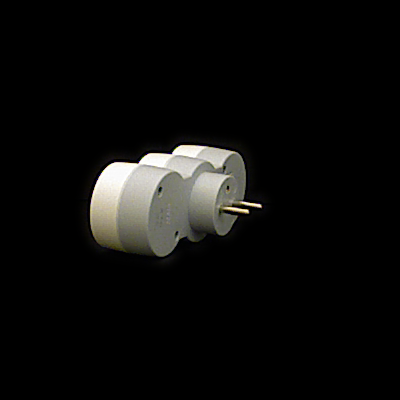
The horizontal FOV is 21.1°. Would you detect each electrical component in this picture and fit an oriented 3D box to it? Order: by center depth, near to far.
[{"bbox_3d":[0.000,0.000,0.649,0.073,0.052,0.138,8,13,24],"label":"electrical component"}]
